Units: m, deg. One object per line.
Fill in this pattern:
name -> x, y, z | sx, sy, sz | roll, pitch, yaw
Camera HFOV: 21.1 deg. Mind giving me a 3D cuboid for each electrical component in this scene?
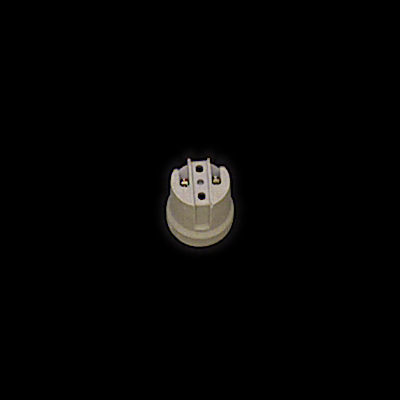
electrical component -> 0.000, 0.000, 0.634 | 0.040, 0.040, 0.046 | 0, -27, -1
